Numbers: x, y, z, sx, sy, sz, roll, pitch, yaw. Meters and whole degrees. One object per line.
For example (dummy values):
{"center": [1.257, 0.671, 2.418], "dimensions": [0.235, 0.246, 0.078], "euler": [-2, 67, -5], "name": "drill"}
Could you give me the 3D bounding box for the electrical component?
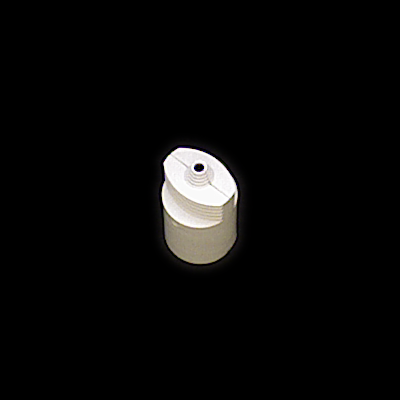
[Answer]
{"center": [0.000, 0.000, 0.617], "dimensions": [0.043, 0.043, 0.081], "euler": [0, -27, 0], "name": "electrical component"}
